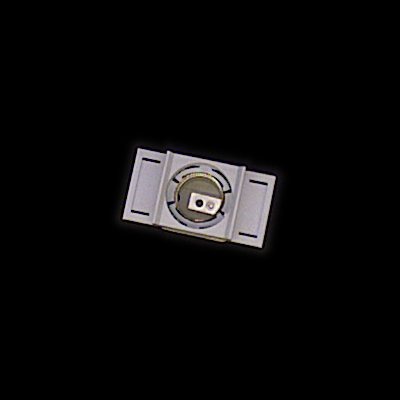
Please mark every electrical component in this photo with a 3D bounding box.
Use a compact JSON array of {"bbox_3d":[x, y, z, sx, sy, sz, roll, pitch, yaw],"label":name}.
[{"bbox_3d":[0.000,0.000,0.625,0.081,0.042,0.063,12,-7,2],"label":"electrical component"}]
